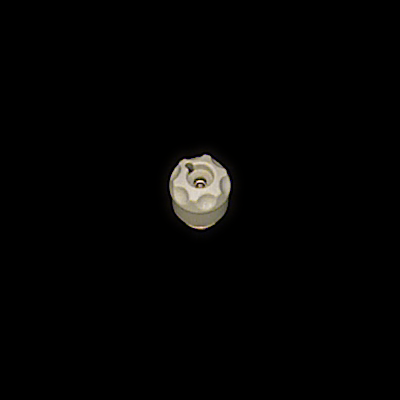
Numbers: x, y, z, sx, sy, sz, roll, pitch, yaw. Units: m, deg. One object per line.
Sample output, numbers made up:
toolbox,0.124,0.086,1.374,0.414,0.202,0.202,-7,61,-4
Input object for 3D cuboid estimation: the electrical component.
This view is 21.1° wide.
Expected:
electrical component,0.000,0.000,0.635,0.035,0.035,0.061,0,-27,0
